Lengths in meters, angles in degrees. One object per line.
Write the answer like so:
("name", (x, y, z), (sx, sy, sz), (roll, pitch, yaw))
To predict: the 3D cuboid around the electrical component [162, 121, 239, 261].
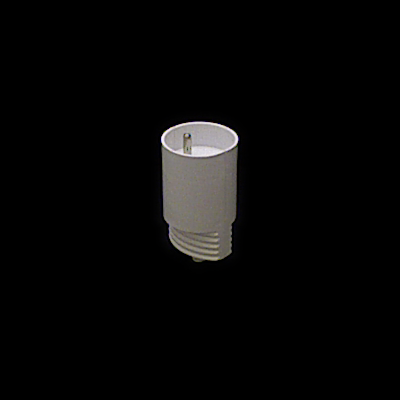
("electrical component", (0.000, 0.000, 0.627), (0.043, 0.082, 0.042), (1, 31, 0))
